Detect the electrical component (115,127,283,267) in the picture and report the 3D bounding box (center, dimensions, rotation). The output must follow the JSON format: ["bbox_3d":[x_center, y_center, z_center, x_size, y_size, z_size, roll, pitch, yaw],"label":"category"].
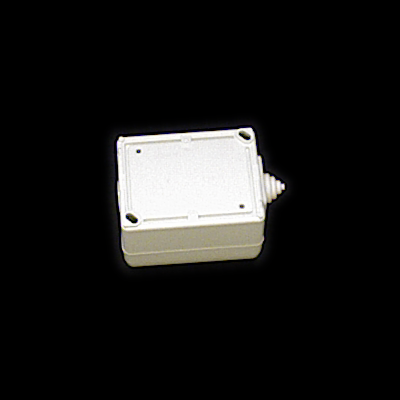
[{"bbox_3d":[0.000,0.000,0.628,0.096,0.062,0.061,-4,-28,-2],"label":"electrical component"}]
